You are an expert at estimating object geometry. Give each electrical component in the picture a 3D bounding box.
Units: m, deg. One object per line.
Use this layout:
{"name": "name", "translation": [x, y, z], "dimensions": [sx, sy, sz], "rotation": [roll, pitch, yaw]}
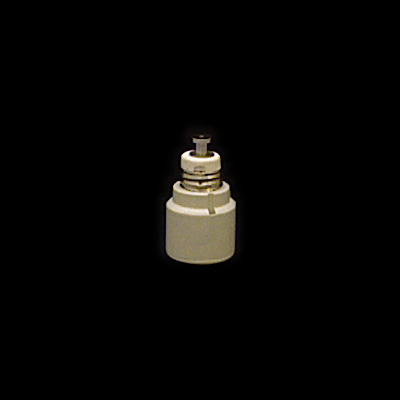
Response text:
{"name": "electrical component", "translation": [0.000, 0.000, 0.634], "dimensions": [0.040, 0.079, 0.039], "rotation": [0, 20, 0]}
